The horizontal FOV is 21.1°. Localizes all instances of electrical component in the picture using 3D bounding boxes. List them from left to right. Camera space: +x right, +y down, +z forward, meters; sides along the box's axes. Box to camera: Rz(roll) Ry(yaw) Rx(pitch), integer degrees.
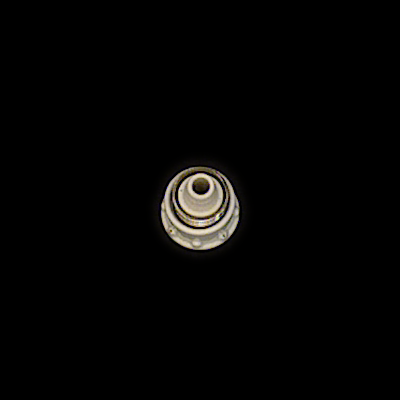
[{"bbox_3d":[0.000,0.000,0.633,0.048,0.048,0.061,0,-16,-1],"label":"electrical component"}]
